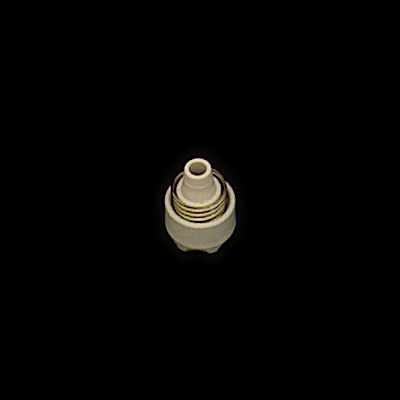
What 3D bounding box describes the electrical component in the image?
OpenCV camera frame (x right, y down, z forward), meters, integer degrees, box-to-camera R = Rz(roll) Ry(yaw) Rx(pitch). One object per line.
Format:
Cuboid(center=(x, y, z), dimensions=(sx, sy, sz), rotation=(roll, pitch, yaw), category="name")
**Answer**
Cuboid(center=(0.000, 0.000, 0.635), dimensions=(0.043, 0.043, 0.062), rotation=(0, -37, 1), category="electrical component")
